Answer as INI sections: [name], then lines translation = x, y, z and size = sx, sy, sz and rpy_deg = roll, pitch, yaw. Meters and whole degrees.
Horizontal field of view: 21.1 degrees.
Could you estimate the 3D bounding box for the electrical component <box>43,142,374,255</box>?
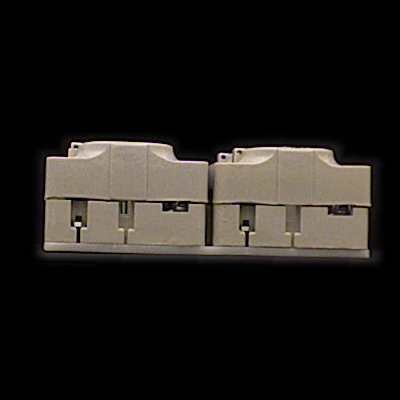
[electrical component]
translation = 0.000, 0.000, 0.648
size = 0.186, 0.060, 0.105
rpy_deg = 1, 0, -8
